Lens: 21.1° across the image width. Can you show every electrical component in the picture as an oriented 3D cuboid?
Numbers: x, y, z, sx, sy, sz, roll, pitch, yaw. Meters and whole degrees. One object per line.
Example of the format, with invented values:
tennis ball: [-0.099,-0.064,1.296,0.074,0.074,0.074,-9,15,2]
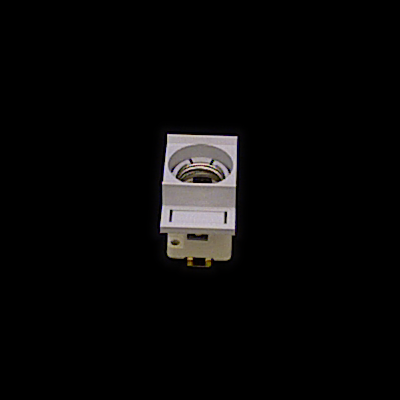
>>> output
electrical component: [0.000,0.000,0.631,0.042,0.064,0.080,1,42,2]
